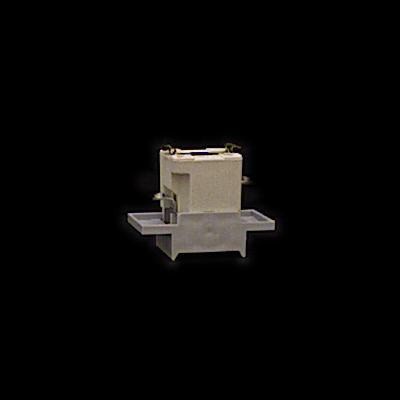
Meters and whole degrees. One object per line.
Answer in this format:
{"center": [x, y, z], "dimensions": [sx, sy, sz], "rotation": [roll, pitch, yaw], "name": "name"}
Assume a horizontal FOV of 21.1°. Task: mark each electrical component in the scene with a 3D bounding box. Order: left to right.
{"center": [0.000, 0.000, 0.643], "dimensions": [0.081, 0.064, 0.042], "rotation": [-2, 12, -16], "name": "electrical component"}
